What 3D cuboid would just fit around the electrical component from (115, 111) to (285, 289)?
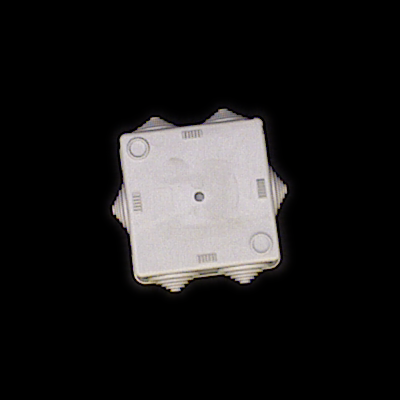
[{"bbox_3d":[0.000,0.000,0.632,0.100,0.100,0.048,-7,-6,-1],"label":"electrical component"}]
